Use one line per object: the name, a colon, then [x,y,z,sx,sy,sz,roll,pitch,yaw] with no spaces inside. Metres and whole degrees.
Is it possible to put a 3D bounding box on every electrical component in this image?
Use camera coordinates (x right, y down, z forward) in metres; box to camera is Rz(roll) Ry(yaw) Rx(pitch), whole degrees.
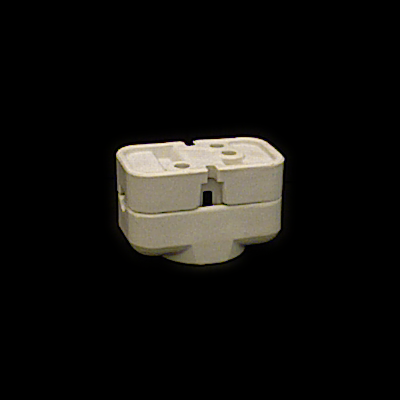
electrical component: [0.000,0.000,0.647,0.096,0.060,0.052,-6,23,-16]
